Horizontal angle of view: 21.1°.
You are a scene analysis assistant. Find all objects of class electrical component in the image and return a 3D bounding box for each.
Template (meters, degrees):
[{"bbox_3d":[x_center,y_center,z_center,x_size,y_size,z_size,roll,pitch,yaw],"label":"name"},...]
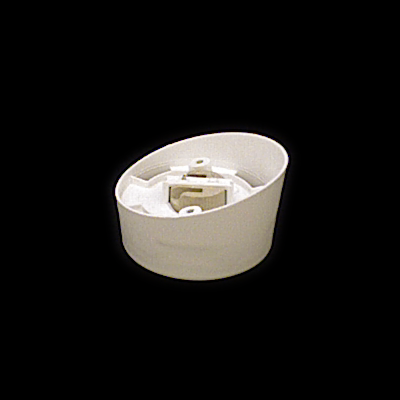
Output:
[{"bbox_3d":[0.000,0.000,0.634,0.099,0.065,0.097,2,31,-1],"label":"electrical component"}]
